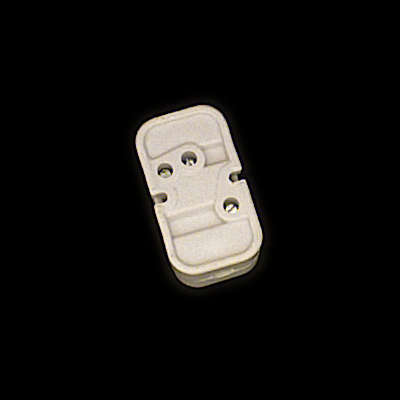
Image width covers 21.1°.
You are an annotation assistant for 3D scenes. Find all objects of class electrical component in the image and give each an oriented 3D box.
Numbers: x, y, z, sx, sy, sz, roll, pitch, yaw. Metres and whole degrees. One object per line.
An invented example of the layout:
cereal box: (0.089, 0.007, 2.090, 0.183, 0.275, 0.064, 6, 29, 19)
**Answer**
electrical component: (0.000, 0.000, 0.635, 0.054, 0.095, 0.059, -16, -15, -4)
